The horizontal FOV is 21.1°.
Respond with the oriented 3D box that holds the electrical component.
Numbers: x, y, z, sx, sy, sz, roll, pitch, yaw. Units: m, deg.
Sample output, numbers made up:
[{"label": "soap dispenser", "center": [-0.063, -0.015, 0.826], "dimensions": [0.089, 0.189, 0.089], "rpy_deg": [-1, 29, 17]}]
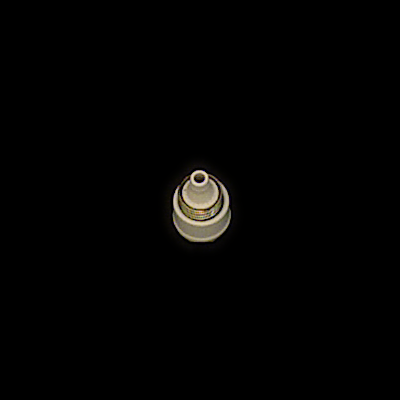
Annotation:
[{"label": "electrical component", "center": [0.000, 0.000, 0.637], "dimensions": [0.035, 0.035, 0.061], "rpy_deg": [0, -26, 2]}]
